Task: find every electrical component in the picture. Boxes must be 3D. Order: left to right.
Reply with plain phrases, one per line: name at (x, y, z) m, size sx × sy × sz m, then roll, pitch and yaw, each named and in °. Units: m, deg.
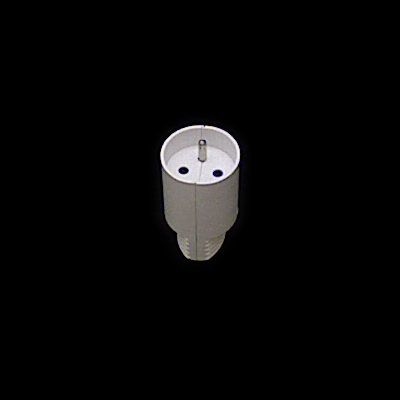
electrical component at (0.000, 0.000, 0.620) m, size 0.043 × 0.043 × 0.081 m, roll 0°, pitch -39°, yaw -1°
